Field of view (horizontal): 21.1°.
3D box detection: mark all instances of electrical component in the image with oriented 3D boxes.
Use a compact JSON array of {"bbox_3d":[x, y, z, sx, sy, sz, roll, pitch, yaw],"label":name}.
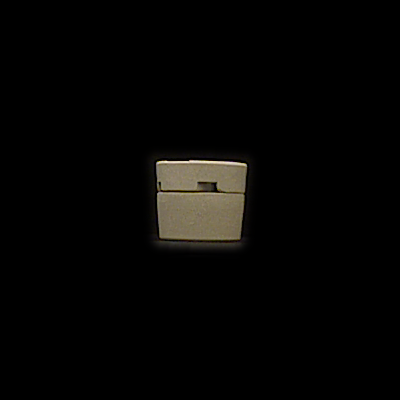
[{"bbox_3d":[0.000,0.000,0.652,0.055,0.047,0.055,1,1,0],"label":"electrical component"}]
